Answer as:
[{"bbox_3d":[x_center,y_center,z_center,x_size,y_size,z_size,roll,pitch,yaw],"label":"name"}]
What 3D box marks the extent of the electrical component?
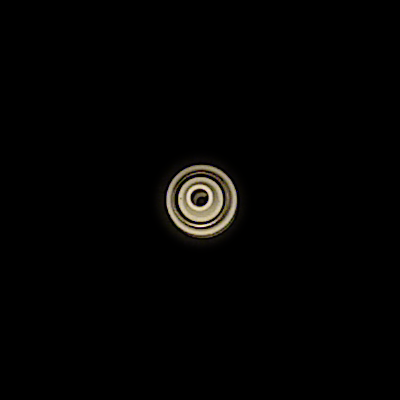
[{"bbox_3d":[0.000,0.000,0.635,0.043,0.043,0.062,0,-4,2],"label":"electrical component"}]
